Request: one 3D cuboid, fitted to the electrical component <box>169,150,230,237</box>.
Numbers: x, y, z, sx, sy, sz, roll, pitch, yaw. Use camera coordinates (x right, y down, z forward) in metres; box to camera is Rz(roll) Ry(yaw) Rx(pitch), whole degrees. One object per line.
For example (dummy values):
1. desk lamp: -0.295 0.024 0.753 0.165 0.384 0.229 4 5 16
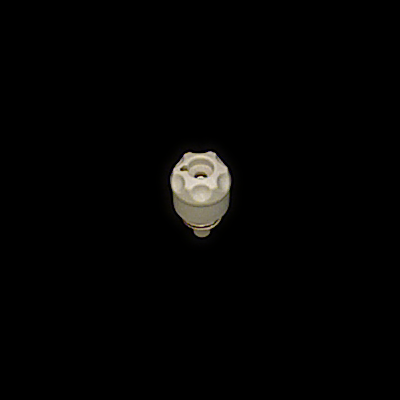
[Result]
1. electrical component: 0.000 0.000 0.635 0.035 0.035 0.062 0 -37 0
